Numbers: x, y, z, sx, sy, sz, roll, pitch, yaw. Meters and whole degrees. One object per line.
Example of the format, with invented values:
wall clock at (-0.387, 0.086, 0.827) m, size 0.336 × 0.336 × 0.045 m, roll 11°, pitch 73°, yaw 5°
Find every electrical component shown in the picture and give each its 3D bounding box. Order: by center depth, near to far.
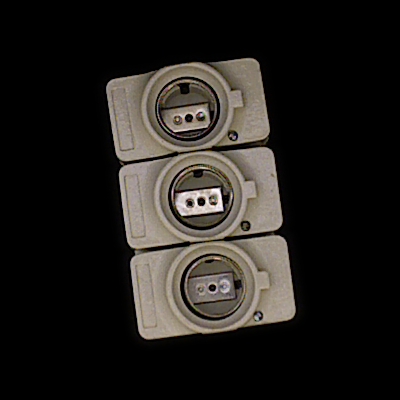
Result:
electrical component at (0.000, 0.000, 0.632) m, size 0.089 × 0.150 × 0.061 m, roll -8°, pitch -6°, yaw -1°
